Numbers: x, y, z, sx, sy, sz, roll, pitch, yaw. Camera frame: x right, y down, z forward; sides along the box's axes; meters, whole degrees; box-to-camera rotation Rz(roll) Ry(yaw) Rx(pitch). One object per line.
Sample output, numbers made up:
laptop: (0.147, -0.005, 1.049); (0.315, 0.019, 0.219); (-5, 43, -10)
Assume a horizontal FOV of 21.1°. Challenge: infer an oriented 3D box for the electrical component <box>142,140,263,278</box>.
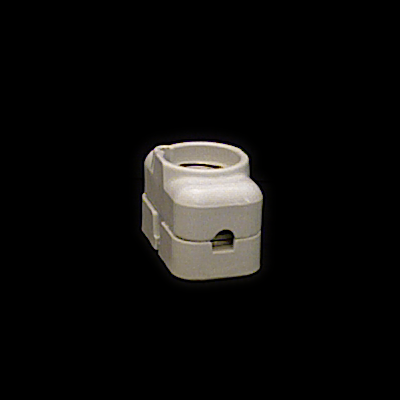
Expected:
electrical component: (0.000, 0.000, 0.645); (0.054, 0.060, 0.093); (-6, 22, -17)
